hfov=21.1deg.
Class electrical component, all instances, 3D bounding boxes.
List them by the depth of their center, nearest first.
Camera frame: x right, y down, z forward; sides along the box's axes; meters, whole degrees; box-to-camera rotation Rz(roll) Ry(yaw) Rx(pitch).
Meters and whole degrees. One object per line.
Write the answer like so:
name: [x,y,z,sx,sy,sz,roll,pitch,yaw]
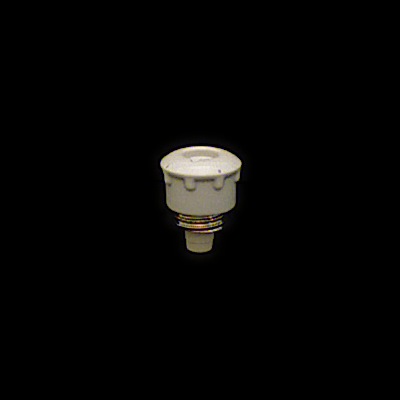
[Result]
electrical component: [0.000,0.000,0.645,0.048,0.062,0.047,1,22,0]
